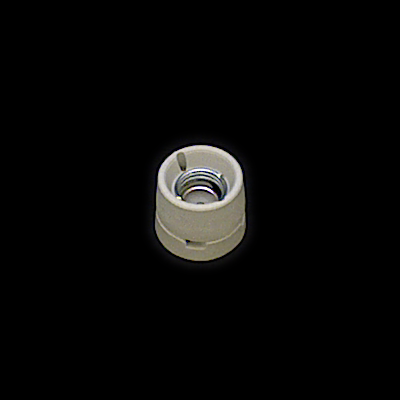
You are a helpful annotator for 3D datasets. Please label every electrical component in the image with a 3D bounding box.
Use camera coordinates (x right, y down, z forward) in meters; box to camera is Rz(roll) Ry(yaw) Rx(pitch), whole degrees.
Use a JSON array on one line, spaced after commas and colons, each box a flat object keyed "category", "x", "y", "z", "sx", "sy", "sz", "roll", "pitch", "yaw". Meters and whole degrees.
[{"category": "electrical component", "x": 0.000, "y": 0.000, "z": 0.635, "sx": 0.055, "sy": 0.055, "sz": 0.047, "roll": 0, "pitch": -38, "yaw": 0}]
